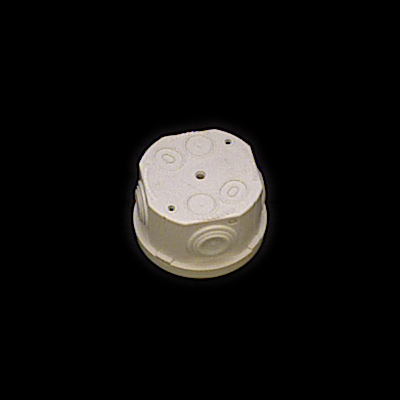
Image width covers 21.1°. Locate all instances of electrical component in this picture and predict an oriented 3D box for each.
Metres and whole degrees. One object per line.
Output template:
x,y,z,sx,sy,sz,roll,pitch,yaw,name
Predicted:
0.000,0.000,0.633,0.080,0.080,0.051,0,-38,-1,electrical component
